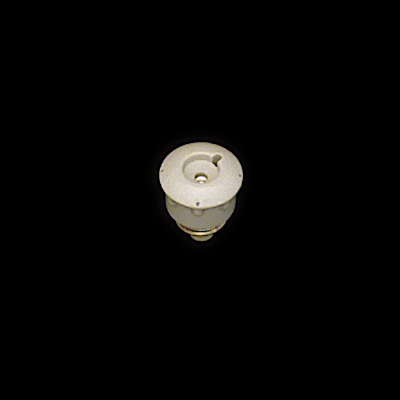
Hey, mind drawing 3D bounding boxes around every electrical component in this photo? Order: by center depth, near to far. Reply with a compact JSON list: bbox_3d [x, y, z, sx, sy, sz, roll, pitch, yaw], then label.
[{"bbox_3d":[0.000,0.000,0.636,0.048,0.048,0.062,0,-37,0],"label":"electrical component"}]
